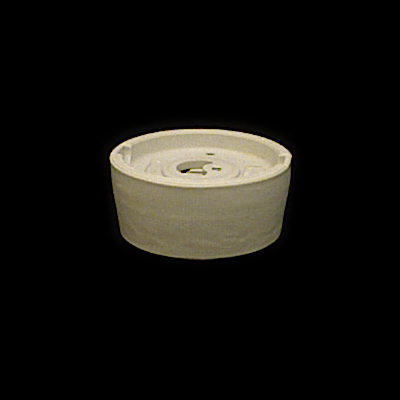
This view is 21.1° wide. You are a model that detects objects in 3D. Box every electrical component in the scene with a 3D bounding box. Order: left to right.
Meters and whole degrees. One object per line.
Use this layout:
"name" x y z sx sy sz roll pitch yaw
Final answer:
"electrical component" 0.000 0.000 0.648 0.108 0.061 0.106 1 21 0
